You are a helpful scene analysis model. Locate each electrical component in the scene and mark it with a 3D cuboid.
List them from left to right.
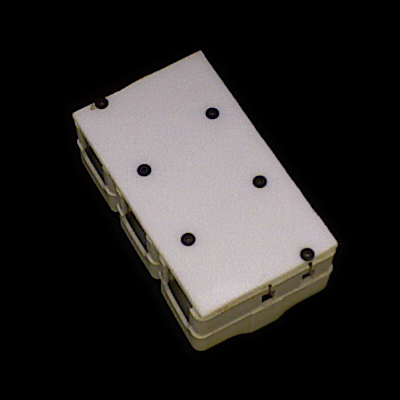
[{"bbox_3d":[0.000,0.000,0.630,0.089,0.149,0.062,-27,-23,-13],"label":"electrical component"}]
